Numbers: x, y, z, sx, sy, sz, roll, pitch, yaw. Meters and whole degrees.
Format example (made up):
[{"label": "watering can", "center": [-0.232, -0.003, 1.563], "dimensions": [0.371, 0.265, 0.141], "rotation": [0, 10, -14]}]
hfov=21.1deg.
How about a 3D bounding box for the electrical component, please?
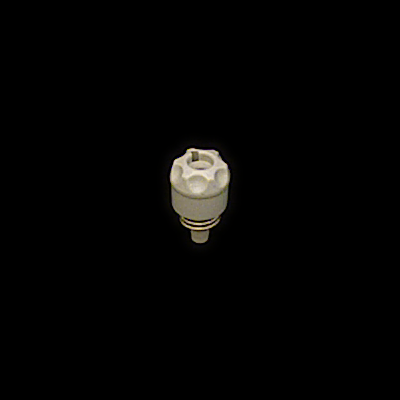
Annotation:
[{"label": "electrical component", "center": [0.000, 0.000, 0.640], "dimensions": [0.035, 0.062, 0.035], "rotation": [1, 42, 0]}]
